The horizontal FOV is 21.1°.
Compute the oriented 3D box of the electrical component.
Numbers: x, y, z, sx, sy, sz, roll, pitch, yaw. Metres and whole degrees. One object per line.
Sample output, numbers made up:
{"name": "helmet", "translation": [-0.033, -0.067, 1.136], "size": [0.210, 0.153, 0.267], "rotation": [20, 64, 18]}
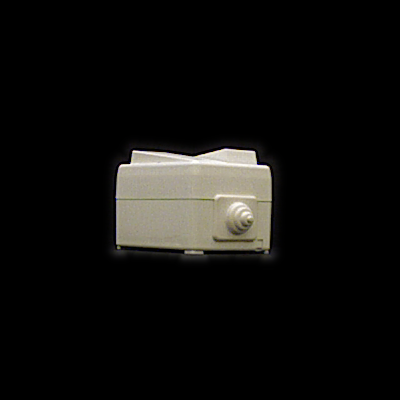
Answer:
{"name": "electrical component", "translation": [0.000, 0.000, 0.648], "size": [0.062, 0.061, 0.096], "rotation": [1, 0, -38]}
